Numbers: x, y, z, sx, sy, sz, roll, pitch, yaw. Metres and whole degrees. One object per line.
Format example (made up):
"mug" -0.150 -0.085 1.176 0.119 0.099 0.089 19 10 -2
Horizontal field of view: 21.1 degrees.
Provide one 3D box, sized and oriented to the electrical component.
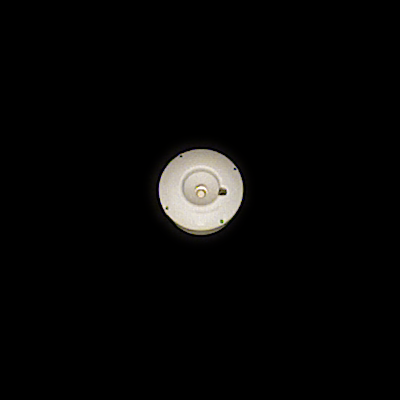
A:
"electrical component" 0.000 0.000 0.634 0.048 0.048 0.062 0 -16 1
